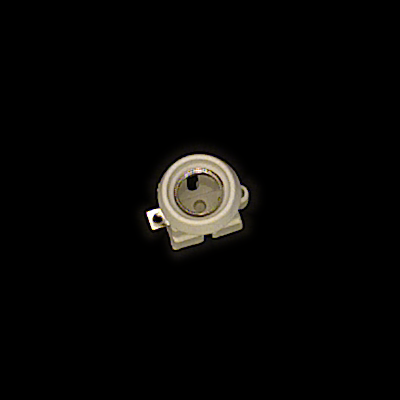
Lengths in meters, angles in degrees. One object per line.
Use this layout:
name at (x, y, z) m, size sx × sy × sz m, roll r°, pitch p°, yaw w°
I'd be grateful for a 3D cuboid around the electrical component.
electrical component at (0.000, 0.000, 0.637) m, size 0.067 × 0.048 × 0.055 m, roll -19°, pitch -17°, yaw -5°
